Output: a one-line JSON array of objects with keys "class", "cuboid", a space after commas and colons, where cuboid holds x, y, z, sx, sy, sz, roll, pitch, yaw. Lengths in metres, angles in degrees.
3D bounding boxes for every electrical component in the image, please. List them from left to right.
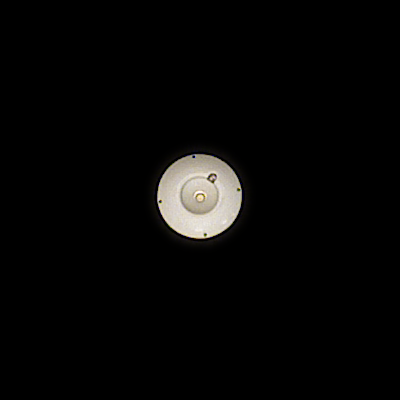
[{"class": "electrical component", "cuboid": [0.000, 0.000, 0.634, 0.048, 0.048, 0.062, 0, -6, 0]}]
